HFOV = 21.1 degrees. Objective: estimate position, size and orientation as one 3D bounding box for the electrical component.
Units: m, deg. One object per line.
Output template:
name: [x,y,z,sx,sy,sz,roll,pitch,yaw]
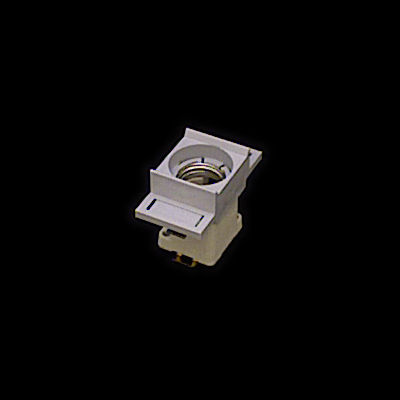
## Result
electrical component: [0.000,0.000,0.631,0.042,0.064,0.080,19,45,21]
